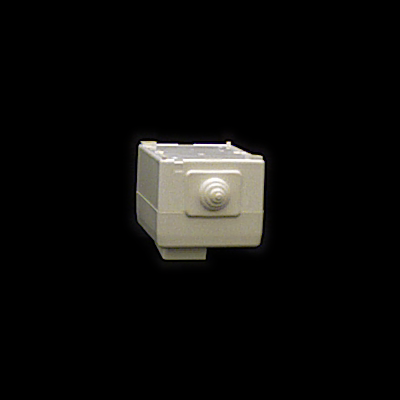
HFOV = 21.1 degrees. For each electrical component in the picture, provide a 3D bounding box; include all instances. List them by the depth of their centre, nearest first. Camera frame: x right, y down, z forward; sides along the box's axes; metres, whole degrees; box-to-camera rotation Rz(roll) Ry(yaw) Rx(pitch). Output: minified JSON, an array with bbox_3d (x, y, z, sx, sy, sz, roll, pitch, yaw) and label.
[{"bbox_3d":[0.000,0.000,0.637,0.062,0.061,0.095,-1,10,-13],"label":"electrical component"}]
